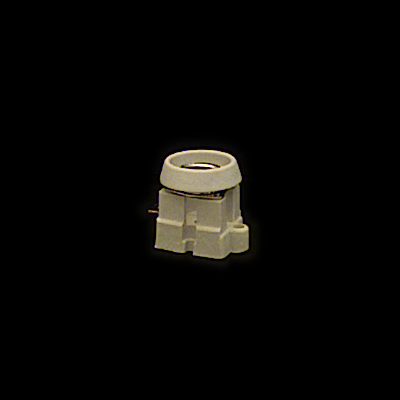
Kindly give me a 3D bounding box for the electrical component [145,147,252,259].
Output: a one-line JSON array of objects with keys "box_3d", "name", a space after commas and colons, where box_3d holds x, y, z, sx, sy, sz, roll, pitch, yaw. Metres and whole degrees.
[{"box_3d": [0.000, 0.000, 0.646, 0.066, 0.056, 0.048, 9, 21, 18], "name": "electrical component"}]
